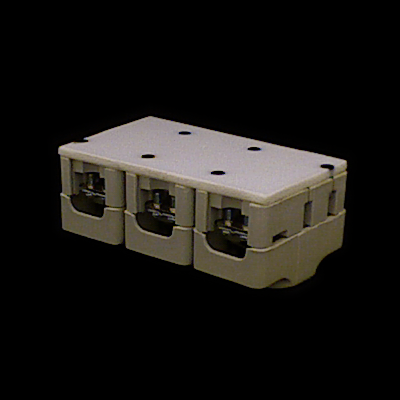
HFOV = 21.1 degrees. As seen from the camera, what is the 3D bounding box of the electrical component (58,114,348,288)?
[{"bbox_3d":[0.000,0.000,0.645,0.149,0.063,0.088,16,25,33],"label":"electrical component"}]
